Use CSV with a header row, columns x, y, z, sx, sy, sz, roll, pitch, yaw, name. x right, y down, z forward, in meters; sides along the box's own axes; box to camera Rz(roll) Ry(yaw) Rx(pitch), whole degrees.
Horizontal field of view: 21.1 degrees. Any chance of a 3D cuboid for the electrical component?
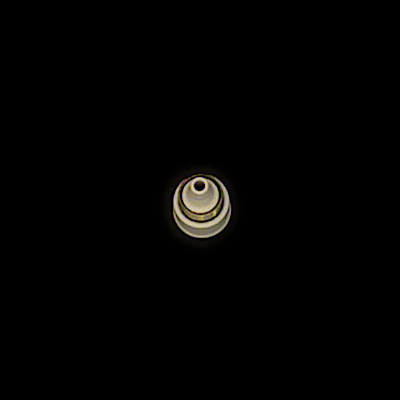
x,y,z,sx,sy,sz,roll,pitch,yaw,name
0.000,0.000,0.636,0.035,0.035,0.061,0,-17,2,electrical component
